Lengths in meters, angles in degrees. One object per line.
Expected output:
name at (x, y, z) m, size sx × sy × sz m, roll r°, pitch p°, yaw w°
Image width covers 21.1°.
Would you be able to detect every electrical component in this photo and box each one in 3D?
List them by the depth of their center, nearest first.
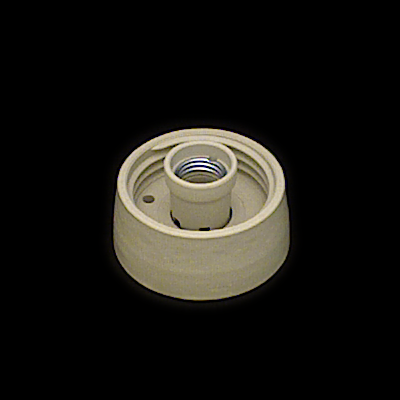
electrical component at (0.000, 0.000, 0.639) m, size 0.108 × 0.061 × 0.106 m, roll 1°, pitch 42°, yaw 0°
